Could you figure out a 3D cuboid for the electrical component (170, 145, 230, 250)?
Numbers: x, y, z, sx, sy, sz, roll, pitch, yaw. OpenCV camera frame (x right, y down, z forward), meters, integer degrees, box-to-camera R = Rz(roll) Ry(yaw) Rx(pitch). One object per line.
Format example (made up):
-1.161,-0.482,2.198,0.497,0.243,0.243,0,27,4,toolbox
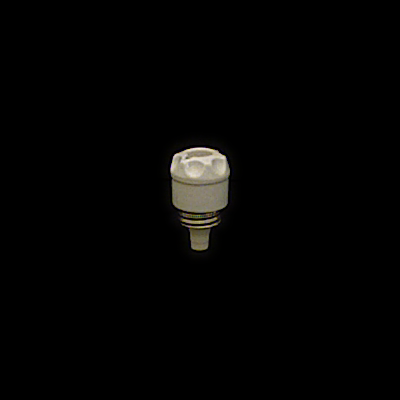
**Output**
0.000,0.000,0.645,0.035,0.062,0.035,1,22,0,electrical component
